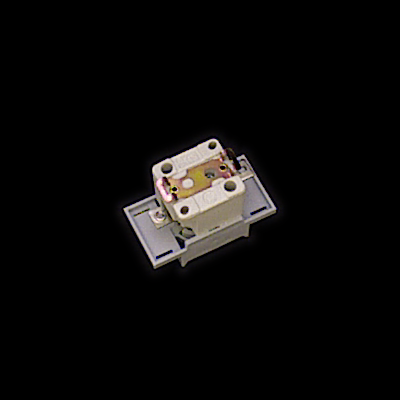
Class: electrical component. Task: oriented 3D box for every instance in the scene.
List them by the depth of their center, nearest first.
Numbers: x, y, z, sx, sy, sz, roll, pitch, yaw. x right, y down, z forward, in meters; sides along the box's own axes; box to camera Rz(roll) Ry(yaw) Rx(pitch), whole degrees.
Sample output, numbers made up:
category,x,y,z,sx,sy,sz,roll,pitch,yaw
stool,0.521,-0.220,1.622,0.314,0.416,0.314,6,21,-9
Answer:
category,x,y,z,sx,sy,sz,roll,pitch,yaw
electrical component,0.000,0.000,0.625,0.081,0.042,0.063,-25,-24,-13
